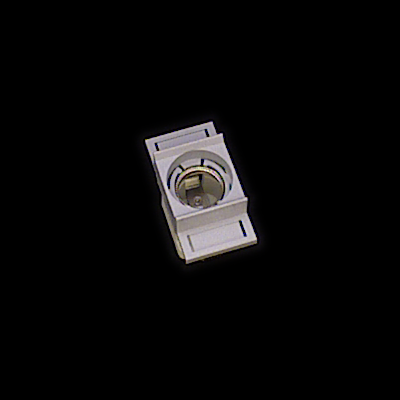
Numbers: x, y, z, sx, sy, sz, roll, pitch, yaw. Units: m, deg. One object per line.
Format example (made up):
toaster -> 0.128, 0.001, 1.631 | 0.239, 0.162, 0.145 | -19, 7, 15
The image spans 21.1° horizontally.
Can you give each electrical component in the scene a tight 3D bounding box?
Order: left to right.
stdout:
electrical component -> 0.000, 0.000, 0.625 | 0.042, 0.080, 0.064 | -16, -25, -7
